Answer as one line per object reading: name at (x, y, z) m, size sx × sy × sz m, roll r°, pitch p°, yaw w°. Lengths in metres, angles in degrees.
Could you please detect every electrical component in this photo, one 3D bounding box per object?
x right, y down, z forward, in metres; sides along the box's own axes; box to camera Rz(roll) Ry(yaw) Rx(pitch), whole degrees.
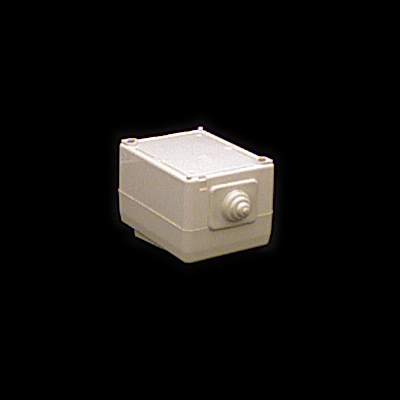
electrical component at (0.000, 0.000, 0.637) m, size 0.062 × 0.061 × 0.095 m, roll -12°, pitch 25°, yaw -31°
